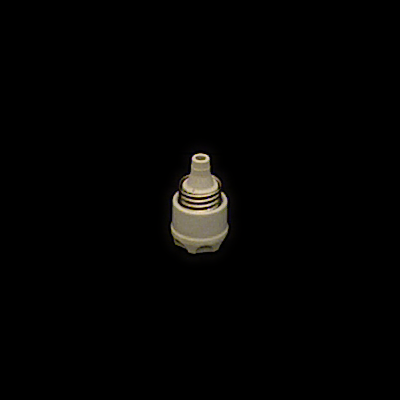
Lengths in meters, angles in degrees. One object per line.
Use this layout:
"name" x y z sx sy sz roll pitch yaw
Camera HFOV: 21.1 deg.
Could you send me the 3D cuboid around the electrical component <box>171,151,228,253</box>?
"electrical component" 0.000 0.000 0.648 0.035 0.062 0.034 1 34 0
